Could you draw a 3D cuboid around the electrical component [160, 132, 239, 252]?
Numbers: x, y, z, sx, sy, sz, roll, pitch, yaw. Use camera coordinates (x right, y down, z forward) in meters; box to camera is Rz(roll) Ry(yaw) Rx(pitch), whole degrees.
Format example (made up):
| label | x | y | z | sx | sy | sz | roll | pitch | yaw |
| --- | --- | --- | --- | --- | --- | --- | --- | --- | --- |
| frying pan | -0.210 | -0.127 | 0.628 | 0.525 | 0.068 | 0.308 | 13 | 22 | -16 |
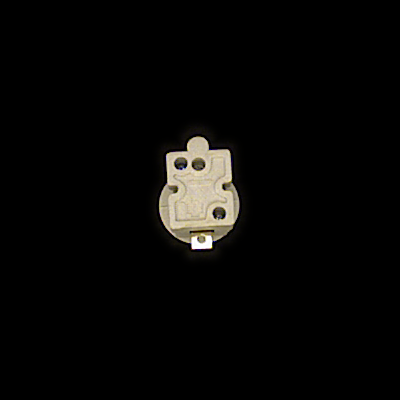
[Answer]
| label | x | y | z | sx | sy | sz | roll | pitch | yaw |
| --- | --- | --- | --- | --- | --- | --- | --- | --- | --- |
| electrical component | 0.000 | 0.000 | 0.638 | 0.048 | 0.066 | 0.055 | -3 | -15 | -2 |
